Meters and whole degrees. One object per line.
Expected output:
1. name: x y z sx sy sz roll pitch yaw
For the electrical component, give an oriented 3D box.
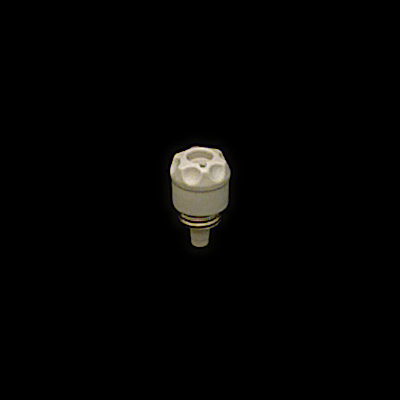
1. electrical component: 0.000 0.000 0.639 0.035 0.062 0.035 1 32 0
